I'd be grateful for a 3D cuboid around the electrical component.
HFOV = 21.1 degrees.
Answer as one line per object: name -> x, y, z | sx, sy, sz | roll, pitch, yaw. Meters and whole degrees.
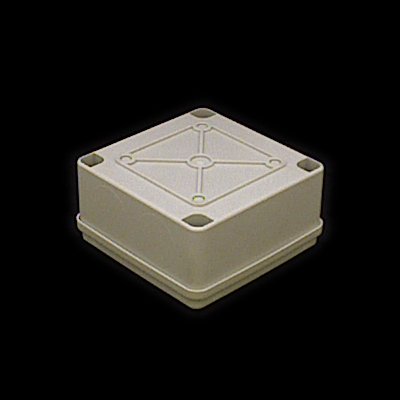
electrical component -> 0.000, 0.000, 0.633 | 0.108, 0.057, 0.108 | -26, 41, -36
